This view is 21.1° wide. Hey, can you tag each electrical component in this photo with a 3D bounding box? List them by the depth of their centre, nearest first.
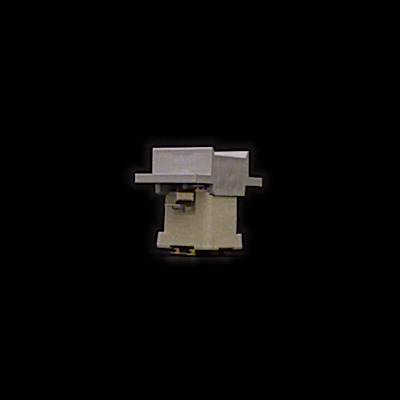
[{"bbox_3d":[0.000,0.000,0.653,0.042,0.064,0.081,1,0,32],"label":"electrical component"}]
